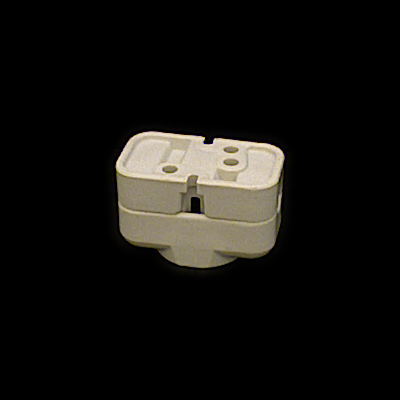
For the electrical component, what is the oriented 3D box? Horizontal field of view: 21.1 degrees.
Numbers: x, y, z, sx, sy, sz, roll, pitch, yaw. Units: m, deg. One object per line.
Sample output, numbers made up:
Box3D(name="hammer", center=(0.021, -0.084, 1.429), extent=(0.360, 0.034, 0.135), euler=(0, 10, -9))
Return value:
Box3D(name="electrical component", center=(0.000, 0.000, 0.643), extent=(0.095, 0.060, 0.053), euler=(6, 33, 9))
